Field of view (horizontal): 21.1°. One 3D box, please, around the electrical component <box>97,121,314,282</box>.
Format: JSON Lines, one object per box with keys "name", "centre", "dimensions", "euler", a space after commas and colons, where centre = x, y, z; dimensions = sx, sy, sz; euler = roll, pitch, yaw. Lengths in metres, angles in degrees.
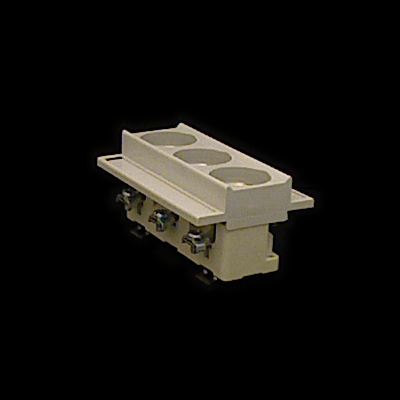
{"name": "electrical component", "centre": [0.000, 0.000, 0.653], "dimensions": [0.079, 0.064, 0.119], "euler": [-11, 24, -30]}
